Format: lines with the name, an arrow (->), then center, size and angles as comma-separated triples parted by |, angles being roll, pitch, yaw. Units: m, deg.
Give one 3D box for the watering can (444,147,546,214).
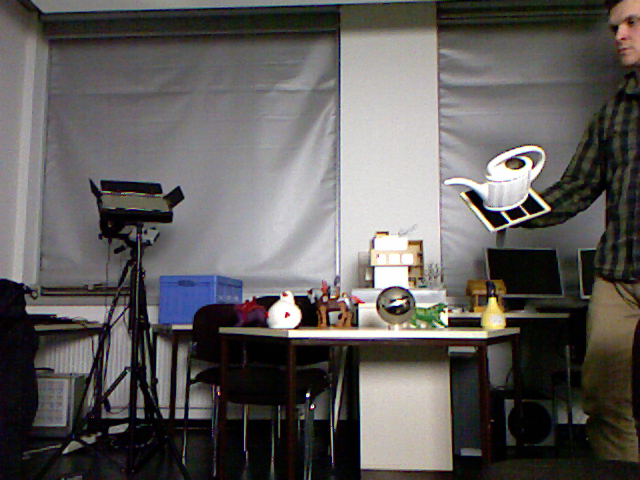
watering can -> 0.549, -0.174, 1.624 | 0.348, 0.219, 0.106 | -20, 44, -6
